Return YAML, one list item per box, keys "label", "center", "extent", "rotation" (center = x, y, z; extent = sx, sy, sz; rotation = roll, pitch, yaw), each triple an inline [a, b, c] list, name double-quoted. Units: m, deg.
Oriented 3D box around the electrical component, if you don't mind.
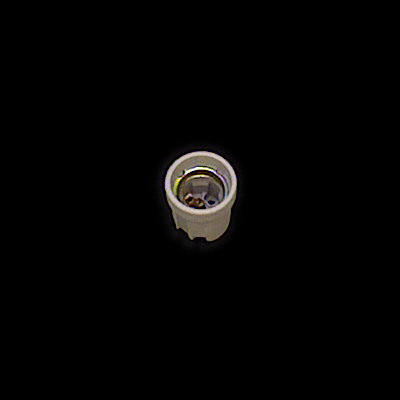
- label: "electrical component"
  center: [0.000, 0.000, 0.627]
  extent: [0.040, 0.040, 0.046]
  rotation: [0, -27, 0]
